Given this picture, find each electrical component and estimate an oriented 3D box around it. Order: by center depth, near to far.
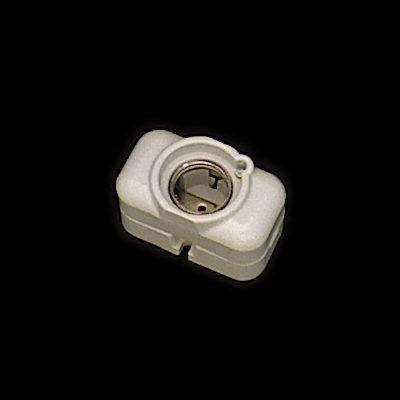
[{"bbox_3d":[0.000,0.000,0.635,0.095,0.054,0.059,22,-24,10],"label":"electrical component"}]
